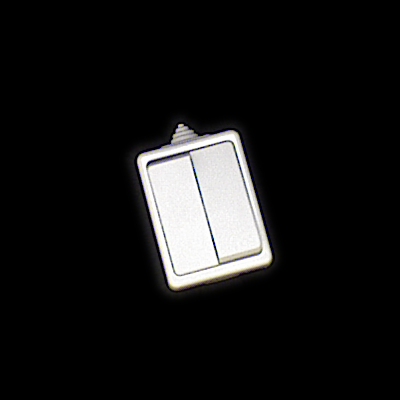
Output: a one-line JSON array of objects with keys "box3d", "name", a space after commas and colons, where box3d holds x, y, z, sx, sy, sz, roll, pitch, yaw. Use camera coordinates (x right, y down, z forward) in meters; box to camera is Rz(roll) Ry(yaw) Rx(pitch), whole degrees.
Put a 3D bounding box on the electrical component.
[{"box3d": [0.000, 0.000, 0.627, 0.062, 0.096, 0.061, -15, -7, -1], "name": "electrical component"}]
